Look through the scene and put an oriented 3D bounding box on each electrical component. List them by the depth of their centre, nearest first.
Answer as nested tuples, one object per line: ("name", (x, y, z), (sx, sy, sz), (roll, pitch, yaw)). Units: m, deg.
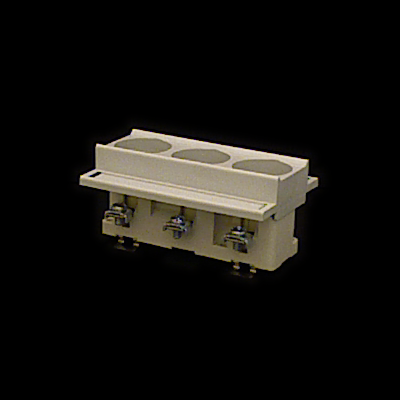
("electrical component", (0.000, 0.000, 0.653), (0.120, 0.064, 0.078), (12, 23, 26))
